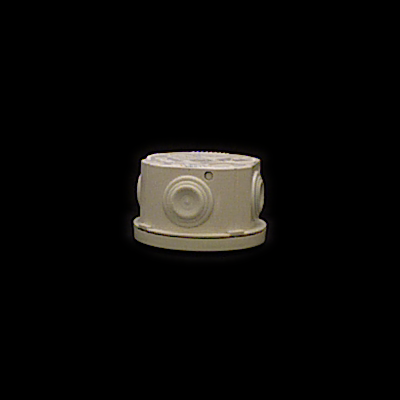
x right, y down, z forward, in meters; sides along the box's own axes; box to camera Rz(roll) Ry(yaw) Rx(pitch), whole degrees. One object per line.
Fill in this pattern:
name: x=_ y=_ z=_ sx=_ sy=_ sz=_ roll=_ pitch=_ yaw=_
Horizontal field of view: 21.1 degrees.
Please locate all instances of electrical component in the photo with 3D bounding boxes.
electrical component: x=0.000 y=0.000 z=0.646 sx=0.080 sy=0.051 sz=0.079 roll=2 pitch=10 yaw=0
